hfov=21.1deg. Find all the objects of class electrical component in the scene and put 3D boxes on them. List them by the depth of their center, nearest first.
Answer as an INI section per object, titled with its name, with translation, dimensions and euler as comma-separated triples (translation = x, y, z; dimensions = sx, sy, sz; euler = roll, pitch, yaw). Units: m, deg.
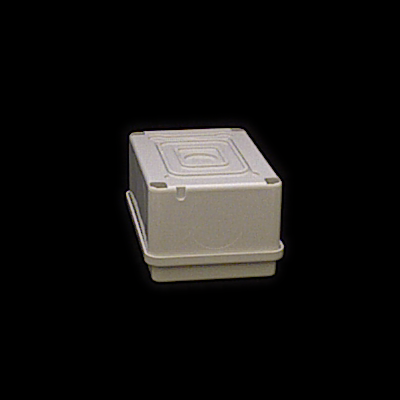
[electrical component]
translation = 0.000, 0.000, 0.639
dimensions = 0.078, 0.058, 0.111
euler = -3, 21, -9
